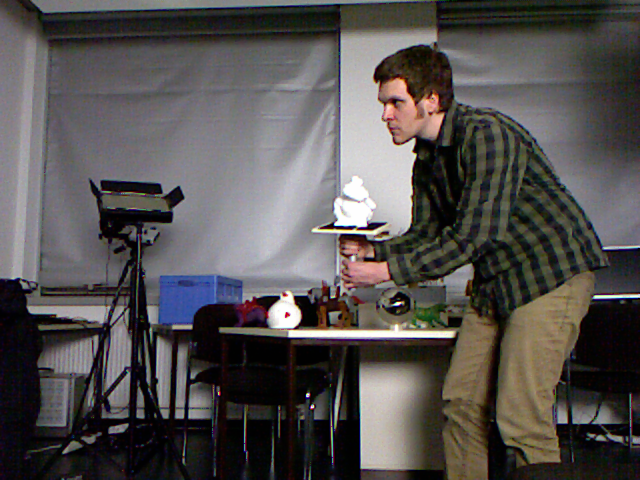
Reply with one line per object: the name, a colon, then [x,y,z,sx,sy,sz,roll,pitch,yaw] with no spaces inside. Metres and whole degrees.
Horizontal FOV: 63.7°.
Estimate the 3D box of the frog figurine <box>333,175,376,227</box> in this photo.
frog figurine: [0.105,-0.123,1.598,0.138,0.159,0.124,6,11,35]
